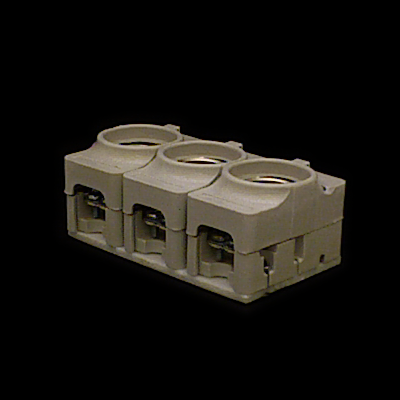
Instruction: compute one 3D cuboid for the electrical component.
[{"bbox_3d":[0.000,0.000,0.647,0.148,0.063,0.089,19,26,38],"label":"electrical component"}]
